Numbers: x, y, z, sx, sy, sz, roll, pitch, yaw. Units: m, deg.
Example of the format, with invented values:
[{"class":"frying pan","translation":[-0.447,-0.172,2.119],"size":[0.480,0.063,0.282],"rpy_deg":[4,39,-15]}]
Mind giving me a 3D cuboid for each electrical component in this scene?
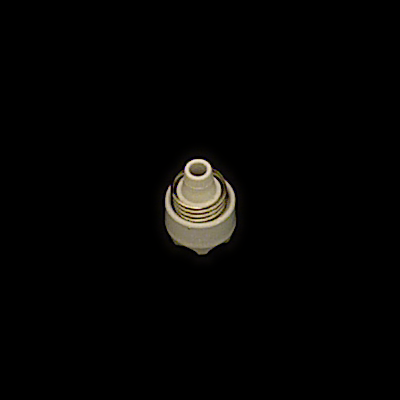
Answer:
[{"class":"electrical component","translation":[0.000,0.000,0.635],"size":[0.043,0.043,0.062],"rpy_deg":[0,-37,1]}]
